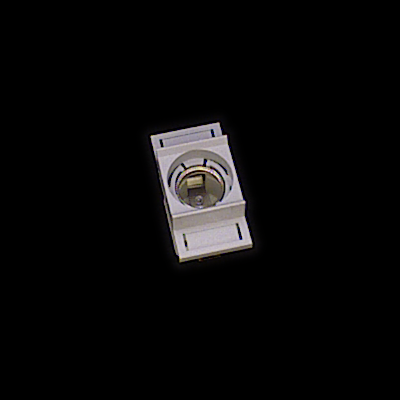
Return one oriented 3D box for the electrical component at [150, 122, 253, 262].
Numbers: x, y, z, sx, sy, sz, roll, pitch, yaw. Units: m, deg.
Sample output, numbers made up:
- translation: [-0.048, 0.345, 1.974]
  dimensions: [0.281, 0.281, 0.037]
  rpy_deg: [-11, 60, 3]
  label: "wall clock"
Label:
- translation: [0.000, 0.000, 0.625]
  dimensions: [0.042, 0.080, 0.064]
  rpy_deg: [-12, -26, -5]
  label: "electrical component"
